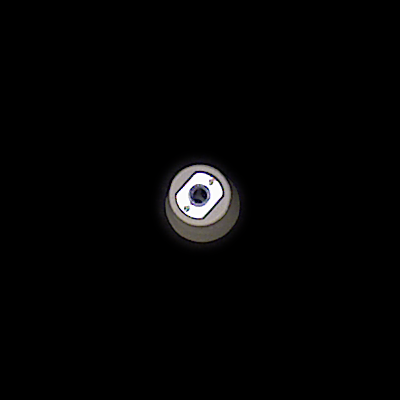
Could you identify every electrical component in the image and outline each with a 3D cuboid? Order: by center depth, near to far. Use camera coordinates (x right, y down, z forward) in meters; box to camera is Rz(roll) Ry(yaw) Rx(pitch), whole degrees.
[{"bbox_3d":[0.000,0.000,0.626,0.044,0.044,0.065,0,-7,2],"label":"electrical component"}]
